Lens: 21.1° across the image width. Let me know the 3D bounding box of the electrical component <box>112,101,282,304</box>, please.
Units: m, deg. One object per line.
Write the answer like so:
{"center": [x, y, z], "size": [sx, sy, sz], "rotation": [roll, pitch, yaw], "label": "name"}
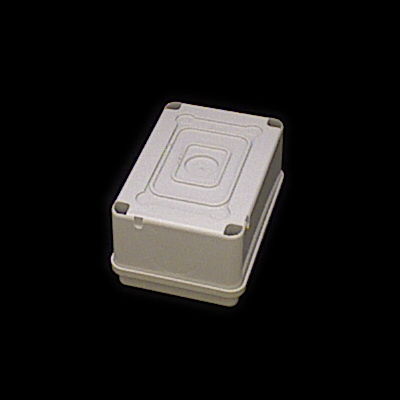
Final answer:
{"center": [0.000, 0.000, 0.632], "size": [0.078, 0.057, 0.112], "rotation": [11, 42, 12], "label": "electrical component"}
